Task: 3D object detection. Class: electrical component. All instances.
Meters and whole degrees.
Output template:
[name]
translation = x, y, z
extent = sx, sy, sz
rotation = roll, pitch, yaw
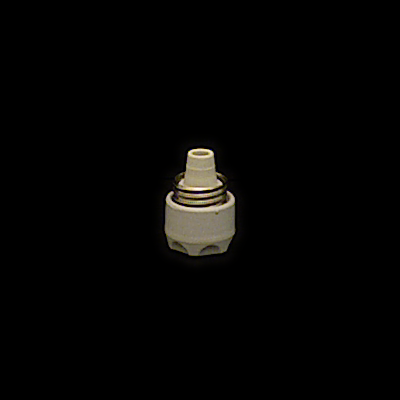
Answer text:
[electrical component]
translation = 0.000, 0.000, 0.645
extent = 0.043, 0.063, 0.043
rotation = 1, 23, 0
